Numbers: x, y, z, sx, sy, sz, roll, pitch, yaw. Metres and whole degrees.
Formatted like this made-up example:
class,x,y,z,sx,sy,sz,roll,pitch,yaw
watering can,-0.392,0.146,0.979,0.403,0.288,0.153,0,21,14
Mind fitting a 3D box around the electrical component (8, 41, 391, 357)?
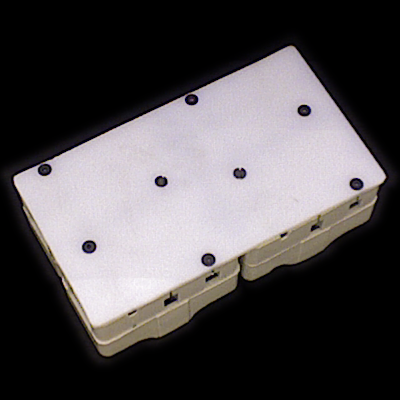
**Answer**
class,x,y,z,sx,sy,sz,roll,pitch,yaw
electrical component,0.000,0.000,0.625,0.187,0.105,0.060,-26,-24,-13
